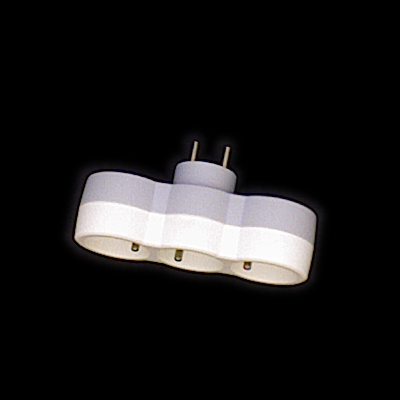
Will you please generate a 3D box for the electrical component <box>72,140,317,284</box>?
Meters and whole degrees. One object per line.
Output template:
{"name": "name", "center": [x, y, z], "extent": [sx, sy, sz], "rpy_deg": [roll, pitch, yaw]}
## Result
{"name": "electrical component", "center": [0.000, 0.000, 0.630], "extent": [0.138, 0.074, 0.052], "rpy_deg": [9, -19, 4]}
